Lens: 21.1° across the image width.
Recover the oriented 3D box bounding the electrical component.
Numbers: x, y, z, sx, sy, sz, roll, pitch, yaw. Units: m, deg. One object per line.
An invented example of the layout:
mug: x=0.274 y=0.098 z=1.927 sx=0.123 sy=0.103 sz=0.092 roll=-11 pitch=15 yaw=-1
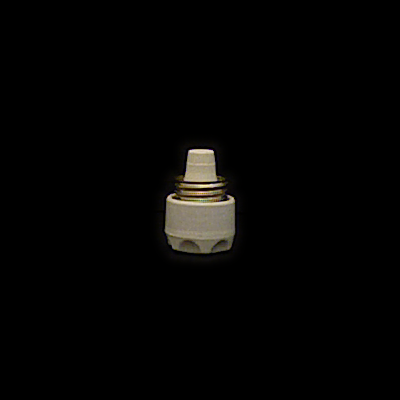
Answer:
electrical component: x=0.000 y=0.000 z=0.652 sx=0.043 sy=0.062 sz=0.043 roll=1 pitch=11 yaw=0
